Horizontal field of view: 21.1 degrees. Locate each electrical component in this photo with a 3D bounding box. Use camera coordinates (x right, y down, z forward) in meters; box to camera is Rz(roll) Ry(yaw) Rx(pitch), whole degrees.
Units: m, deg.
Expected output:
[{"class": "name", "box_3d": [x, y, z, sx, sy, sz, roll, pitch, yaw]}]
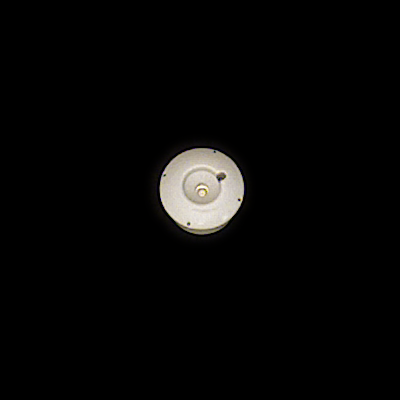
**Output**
[{"class": "electrical component", "box_3d": [0.000, 0.000, 0.634, 0.048, 0.048, 0.062, 0, -16, 1]}]
